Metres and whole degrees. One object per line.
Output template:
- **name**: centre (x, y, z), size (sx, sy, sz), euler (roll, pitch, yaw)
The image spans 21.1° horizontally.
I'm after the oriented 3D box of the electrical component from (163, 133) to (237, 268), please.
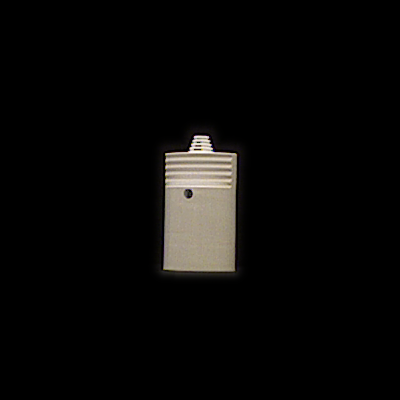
- **electrical component**: centre (0.000, 0.000, 0.650), size (0.043, 0.081, 0.043), euler (1, 1, 0)
